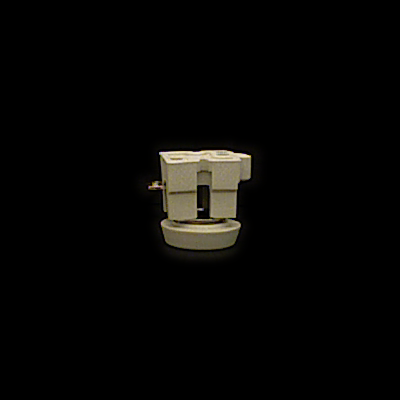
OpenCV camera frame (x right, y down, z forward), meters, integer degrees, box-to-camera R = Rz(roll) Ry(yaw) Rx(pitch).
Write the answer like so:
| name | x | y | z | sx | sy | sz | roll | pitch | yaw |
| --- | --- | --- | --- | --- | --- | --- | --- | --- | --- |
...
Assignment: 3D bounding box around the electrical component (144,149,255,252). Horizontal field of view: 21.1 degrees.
| name | x | y | z | sx | sy | sz | roll | pitch | yaw |
| --- | --- | --- | --- | --- | --- | --- | --- | --- | --- |
| electrical component | 0.000 | 0.000 | 0.653 | 0.067 | 0.056 | 0.048 | -2 | 13 | -9 |
